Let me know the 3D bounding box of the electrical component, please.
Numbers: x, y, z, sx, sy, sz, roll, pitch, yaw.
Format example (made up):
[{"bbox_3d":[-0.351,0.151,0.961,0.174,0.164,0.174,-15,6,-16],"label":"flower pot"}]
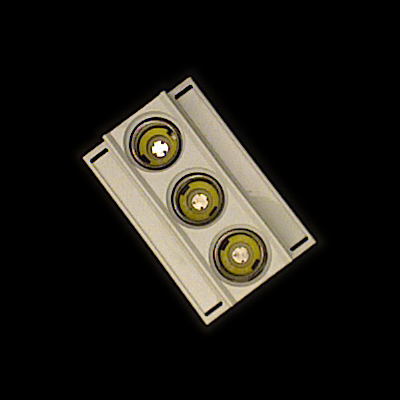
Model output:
[{"bbox_3d":[0.000,0.000,0.637,0.079,0.121,0.063,-37,-5,-1],"label":"electrical component"}]
